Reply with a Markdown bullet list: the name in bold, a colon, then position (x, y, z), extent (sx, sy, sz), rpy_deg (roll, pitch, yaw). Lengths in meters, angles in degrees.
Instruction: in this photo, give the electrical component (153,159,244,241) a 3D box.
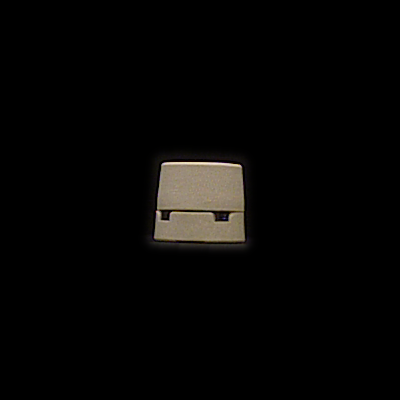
- **electrical component**: position (0.000, 0.000, 0.652), extent (0.055, 0.047, 0.055), rpy_deg (2, 0, 0)
